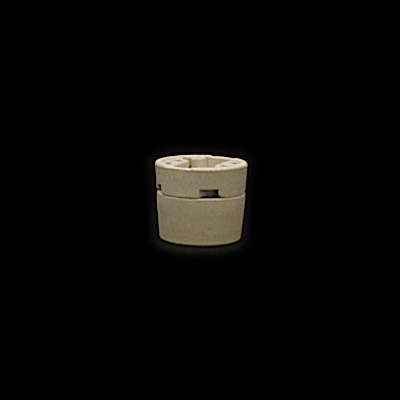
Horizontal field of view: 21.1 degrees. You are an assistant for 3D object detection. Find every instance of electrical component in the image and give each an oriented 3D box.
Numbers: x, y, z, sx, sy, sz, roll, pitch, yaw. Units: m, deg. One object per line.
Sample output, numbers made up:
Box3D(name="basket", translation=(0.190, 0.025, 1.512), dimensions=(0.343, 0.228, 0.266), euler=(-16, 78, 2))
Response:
Box3D(name="electrical component", translation=(0.000, 0.000, 0.644), dimensions=(0.055, 0.047, 0.055), euler=(1, 10, 0))
